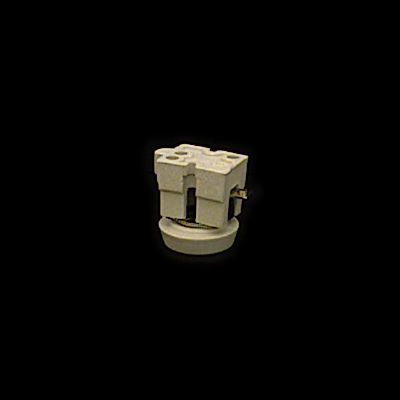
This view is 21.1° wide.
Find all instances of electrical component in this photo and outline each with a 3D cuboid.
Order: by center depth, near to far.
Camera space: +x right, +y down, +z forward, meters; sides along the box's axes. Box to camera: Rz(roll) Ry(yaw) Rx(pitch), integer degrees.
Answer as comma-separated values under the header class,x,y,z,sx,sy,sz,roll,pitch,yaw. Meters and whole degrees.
class,x,y,z,sx,sy,sz,roll,pitch,yaw
electrical component,0.000,0.000,0.646,0.066,0.056,0.048,11,23,21
